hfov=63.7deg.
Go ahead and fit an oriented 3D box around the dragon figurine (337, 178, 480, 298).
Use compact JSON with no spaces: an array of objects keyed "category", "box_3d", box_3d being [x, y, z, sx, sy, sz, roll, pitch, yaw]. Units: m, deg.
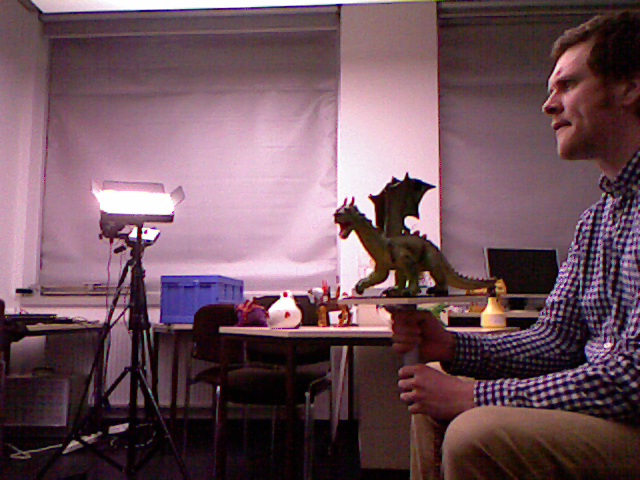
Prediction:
[{"category":"dragon figurine","box_3d":[0.187,-0.007,1.042,0.411,0.243,0.122,0,-1,-38]}]
